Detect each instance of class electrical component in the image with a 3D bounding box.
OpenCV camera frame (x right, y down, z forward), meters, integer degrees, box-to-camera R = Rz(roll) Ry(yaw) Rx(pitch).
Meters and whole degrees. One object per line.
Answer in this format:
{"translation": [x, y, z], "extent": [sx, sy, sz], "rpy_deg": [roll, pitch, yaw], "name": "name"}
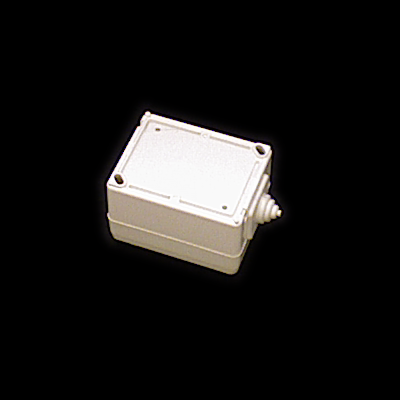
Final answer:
{"translation": [0.000, 0.000, 0.627], "extent": [0.096, 0.062, 0.061], "rpy_deg": [17, -36, 11], "name": "electrical component"}
